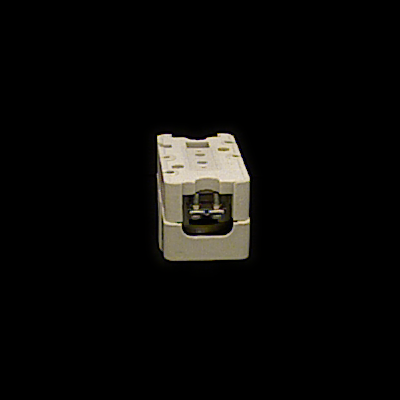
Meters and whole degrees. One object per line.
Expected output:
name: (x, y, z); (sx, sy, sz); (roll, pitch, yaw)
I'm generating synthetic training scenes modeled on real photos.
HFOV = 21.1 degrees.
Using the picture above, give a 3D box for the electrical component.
electrical component: (0.000, 0.000, 0.646); (0.050, 0.056, 0.088); (-2, 21, -5)
